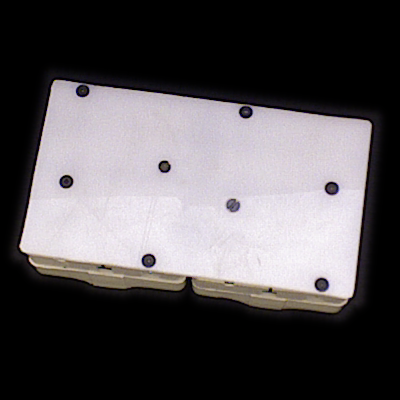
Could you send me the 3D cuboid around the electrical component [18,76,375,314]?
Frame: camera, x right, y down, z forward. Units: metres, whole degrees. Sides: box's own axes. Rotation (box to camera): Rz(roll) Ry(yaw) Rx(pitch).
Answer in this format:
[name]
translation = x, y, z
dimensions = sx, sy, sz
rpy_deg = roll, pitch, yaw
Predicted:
[electrical component]
translation = 0.000, 0.000, 0.625
dimensions = 0.186, 0.106, 0.060
rpy_deg = 8, -17, 2
